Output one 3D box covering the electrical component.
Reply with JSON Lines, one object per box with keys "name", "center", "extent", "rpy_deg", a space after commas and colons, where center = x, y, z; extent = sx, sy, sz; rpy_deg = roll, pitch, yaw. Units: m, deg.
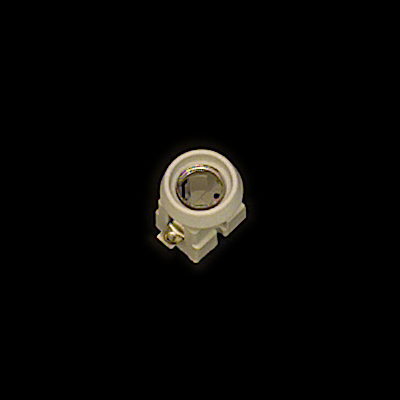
{"name": "electrical component", "center": [0.000, 0.000, 0.636], "extent": [0.048, 0.067, 0.055], "rpy_deg": [39, -20, 20]}
